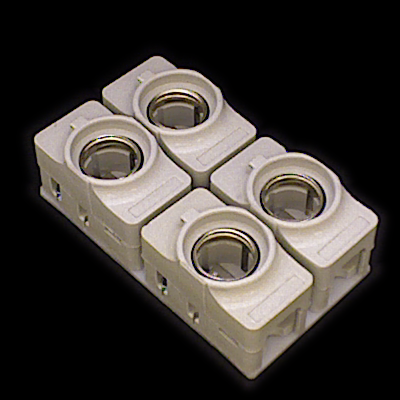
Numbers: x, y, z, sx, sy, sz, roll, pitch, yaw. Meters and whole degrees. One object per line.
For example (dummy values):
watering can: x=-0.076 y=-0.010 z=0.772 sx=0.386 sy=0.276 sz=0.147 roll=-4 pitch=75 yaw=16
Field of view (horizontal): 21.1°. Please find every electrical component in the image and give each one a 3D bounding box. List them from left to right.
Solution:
electrical component: x=0.000 y=0.000 z=0.627 sx=0.106 sy=0.060 sz=0.185 roll=-38 pitch=61 yaw=-25
